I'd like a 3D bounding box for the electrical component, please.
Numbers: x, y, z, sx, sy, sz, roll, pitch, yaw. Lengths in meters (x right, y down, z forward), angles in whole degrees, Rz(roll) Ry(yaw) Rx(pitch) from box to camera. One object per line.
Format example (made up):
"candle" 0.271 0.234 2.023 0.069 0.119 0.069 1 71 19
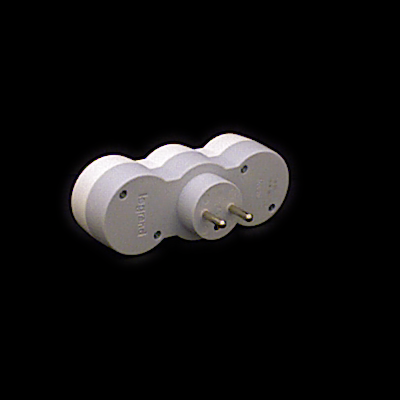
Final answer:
"electrical component" 0.000 0.000 0.643 0.138 0.053 0.073 -12 27 -34
